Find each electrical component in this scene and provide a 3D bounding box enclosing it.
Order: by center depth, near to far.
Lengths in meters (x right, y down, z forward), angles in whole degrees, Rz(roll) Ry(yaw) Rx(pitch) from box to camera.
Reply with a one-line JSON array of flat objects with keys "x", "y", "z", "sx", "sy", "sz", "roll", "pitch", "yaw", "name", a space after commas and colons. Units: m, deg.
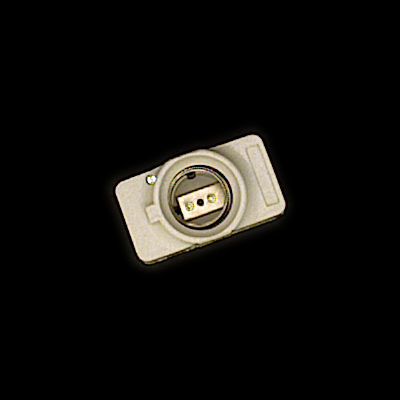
[{"x": 0.000, "y": 0.000, "z": 0.637, "sx": 0.090, "sy": 0.050, "sz": 0.055, "roll": -20, "pitch": -5, "yaw": -2, "name": "electrical component"}]
